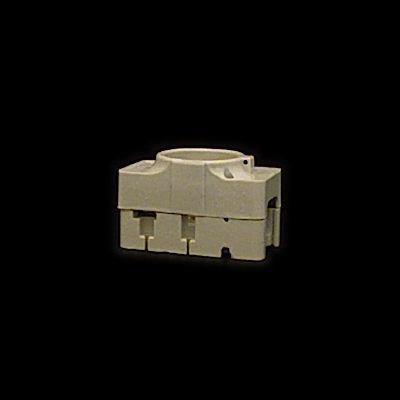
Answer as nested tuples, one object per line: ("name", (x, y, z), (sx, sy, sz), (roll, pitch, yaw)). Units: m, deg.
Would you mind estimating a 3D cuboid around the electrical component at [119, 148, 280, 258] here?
("electrical component", (0.000, 0.000, 0.651), (0.089, 0.056, 0.050), (4, 12, 16))
